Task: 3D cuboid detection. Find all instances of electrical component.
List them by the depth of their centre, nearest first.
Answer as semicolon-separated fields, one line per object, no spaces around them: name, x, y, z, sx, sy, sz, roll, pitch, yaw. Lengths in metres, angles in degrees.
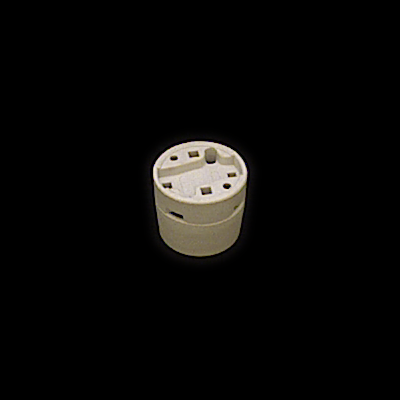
electrical component;0.000;0.000;0.635;0.055;0.047;0.055;1;42;0
